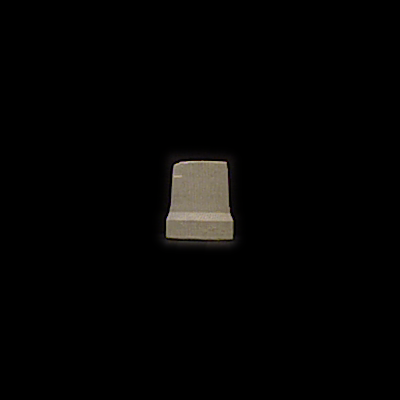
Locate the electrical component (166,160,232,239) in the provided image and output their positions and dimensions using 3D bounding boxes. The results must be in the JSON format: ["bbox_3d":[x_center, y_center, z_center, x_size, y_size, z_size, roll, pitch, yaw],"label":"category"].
[{"bbox_3d":[0.000,0.000,0.651,0.040,0.046,0.040,2,1,0],"label":"electrical component"}]
